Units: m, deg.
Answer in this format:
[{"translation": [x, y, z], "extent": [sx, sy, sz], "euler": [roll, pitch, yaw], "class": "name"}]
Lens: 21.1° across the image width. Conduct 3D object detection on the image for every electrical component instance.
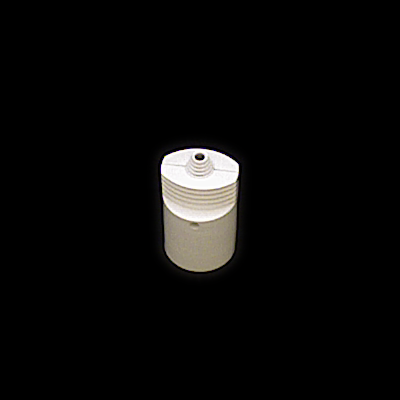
[{"translation": [0.000, 0.000, 0.619], "extent": [0.043, 0.043, 0.081], "euler": [0, -38, 0], "class": "electrical component"}]
